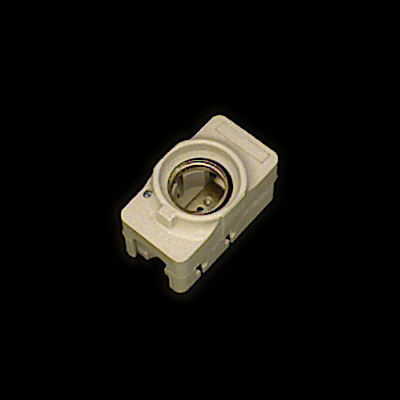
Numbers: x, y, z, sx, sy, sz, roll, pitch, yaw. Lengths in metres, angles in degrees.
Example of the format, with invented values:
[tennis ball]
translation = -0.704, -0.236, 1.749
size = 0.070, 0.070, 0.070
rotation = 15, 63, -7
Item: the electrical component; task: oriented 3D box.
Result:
[electrical component]
translation = 0.000, 0.000, 0.636
size = 0.050, 0.090, 0.055
rotation = 37, -21, 17
